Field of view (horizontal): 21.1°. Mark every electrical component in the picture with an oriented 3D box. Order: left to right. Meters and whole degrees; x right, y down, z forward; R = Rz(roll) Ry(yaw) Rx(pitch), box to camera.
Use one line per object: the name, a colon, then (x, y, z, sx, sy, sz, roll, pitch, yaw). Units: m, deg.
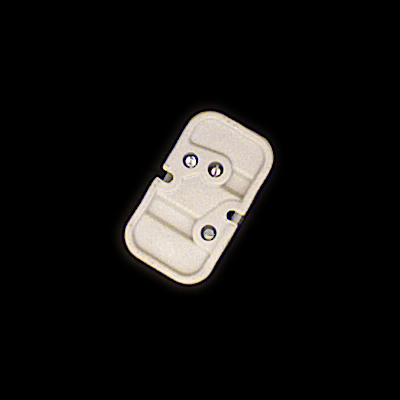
electrical component: (0.000, 0.000, 0.636, 0.053, 0.095, 0.059, 30, -4, 4)
